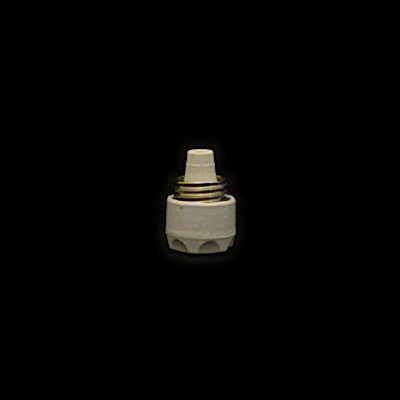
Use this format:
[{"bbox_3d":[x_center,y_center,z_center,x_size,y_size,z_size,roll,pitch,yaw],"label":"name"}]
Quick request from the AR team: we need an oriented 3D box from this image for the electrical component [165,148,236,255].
[{"bbox_3d":[0.000,0.000,0.651,0.043,0.062,0.043,0,12,1],"label":"electrical component"}]
